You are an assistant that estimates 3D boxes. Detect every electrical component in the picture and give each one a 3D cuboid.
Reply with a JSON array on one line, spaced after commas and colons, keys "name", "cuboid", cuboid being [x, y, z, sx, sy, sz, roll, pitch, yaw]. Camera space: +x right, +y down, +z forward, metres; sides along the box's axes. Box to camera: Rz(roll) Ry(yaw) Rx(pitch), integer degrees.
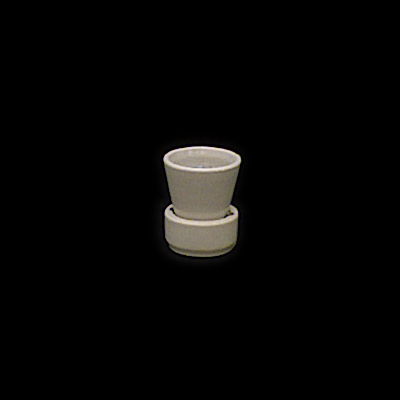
[{"name": "electrical component", "cuboid": [0.000, 0.000, 0.641, 0.045, 0.056, 0.044, 1, 21, 0]}]
